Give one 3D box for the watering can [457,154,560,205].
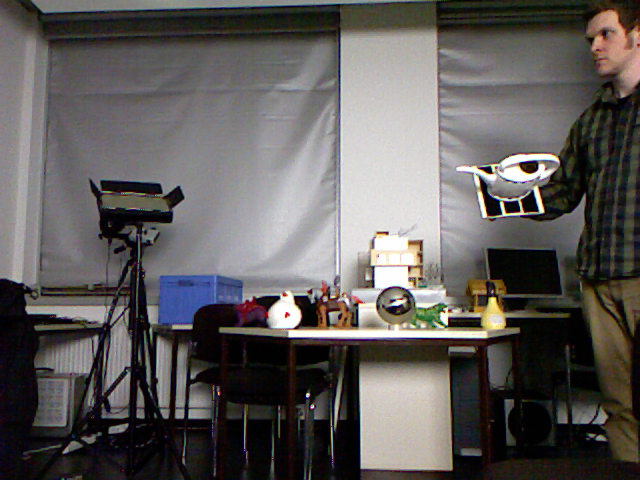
[{"bbox_3d":[0.605,-0.204,1.698,0.348,0.106,0.219,-7,-29,-2],"label":"watering can"}]
